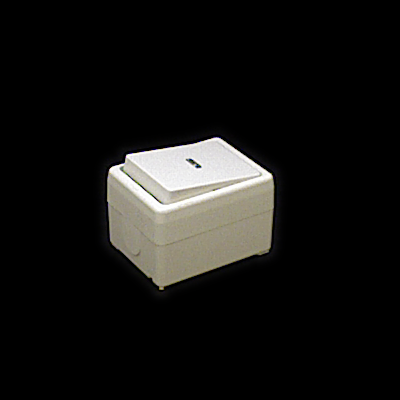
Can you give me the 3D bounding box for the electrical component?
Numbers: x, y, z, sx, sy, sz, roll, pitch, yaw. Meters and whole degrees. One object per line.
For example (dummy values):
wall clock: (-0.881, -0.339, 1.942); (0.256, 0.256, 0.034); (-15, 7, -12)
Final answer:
electrical component: (0.000, 0.000, 0.635); (0.096, 0.061, 0.061); (-18, 36, -28)
